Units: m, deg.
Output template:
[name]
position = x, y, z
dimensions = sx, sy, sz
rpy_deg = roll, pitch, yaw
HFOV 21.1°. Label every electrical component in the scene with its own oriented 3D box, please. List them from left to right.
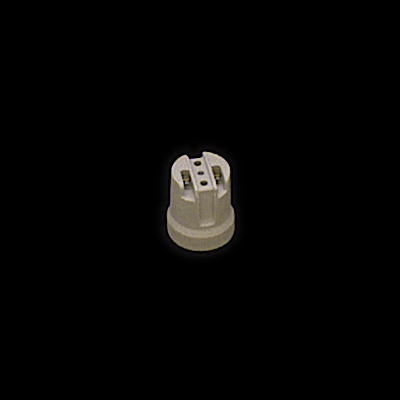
[electrical component]
position = 0.000, 0.000, 0.634
dimensions = 0.040, 0.046, 0.040
rpy_deg = 0, 42, 0
